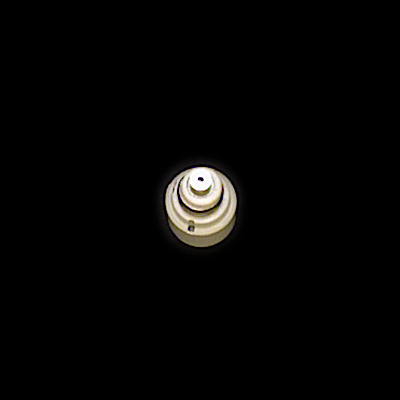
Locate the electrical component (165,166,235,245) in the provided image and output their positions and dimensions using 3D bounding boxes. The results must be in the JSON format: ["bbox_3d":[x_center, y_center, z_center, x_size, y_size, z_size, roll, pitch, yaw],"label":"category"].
[{"bbox_3d":[0.000,0.000,0.618,0.040,0.040,0.078,0,-16,0],"label":"electrical component"}]
